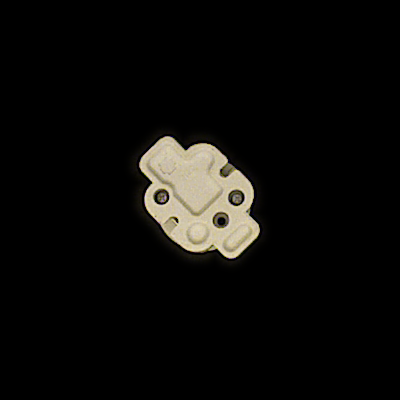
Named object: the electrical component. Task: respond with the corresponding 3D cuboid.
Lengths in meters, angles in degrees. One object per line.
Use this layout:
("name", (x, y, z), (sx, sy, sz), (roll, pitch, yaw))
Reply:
("electrical component", (0.000, 0.000, 0.637), (0.078, 0.058, 0.056), (45, -2, 6))
